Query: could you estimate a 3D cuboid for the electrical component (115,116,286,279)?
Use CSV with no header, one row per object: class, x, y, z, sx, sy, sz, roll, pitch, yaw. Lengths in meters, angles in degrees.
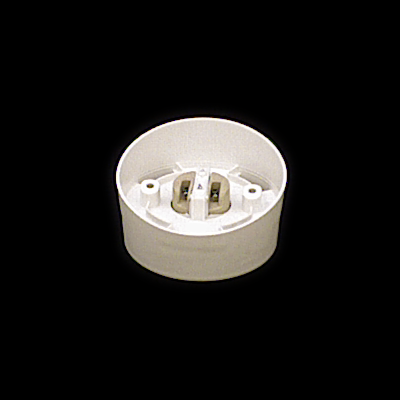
electrical component,0.000,0.000,0.633,0.099,0.065,0.097,1,30,0
